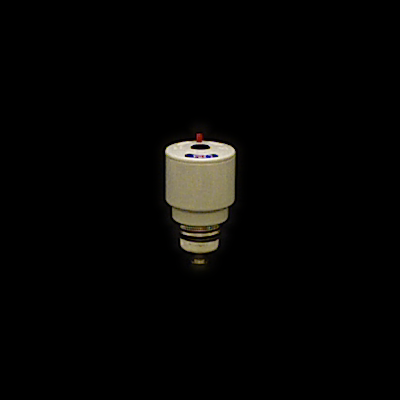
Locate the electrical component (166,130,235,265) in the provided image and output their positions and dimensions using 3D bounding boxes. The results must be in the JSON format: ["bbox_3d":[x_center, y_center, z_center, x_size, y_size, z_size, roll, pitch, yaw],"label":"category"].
[{"bbox_3d":[0.000,0.000,0.638,0.040,0.079,0.039,1,21,0],"label":"electrical component"}]
